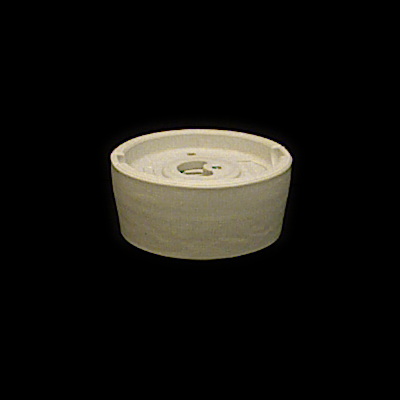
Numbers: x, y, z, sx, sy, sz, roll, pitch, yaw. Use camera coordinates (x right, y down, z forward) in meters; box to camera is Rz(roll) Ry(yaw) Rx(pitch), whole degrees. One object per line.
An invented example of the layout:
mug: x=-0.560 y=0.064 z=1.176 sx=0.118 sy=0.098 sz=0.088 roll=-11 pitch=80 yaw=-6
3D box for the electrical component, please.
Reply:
electrical component: x=0.000 y=0.000 z=0.649 sx=0.108 sy=0.061 sz=0.106 roll=1 pitch=21 yaw=0
